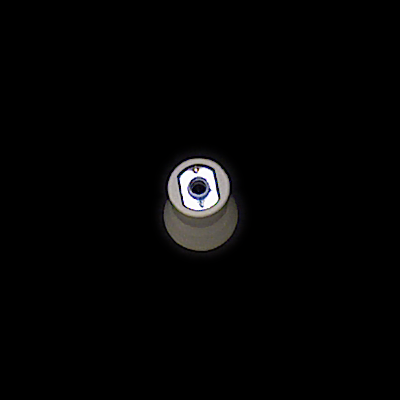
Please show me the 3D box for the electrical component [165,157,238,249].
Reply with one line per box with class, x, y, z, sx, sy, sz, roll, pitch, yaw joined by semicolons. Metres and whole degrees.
electrical component;0.000;0.000;0.625;0.044;0.044;0.065;0;-16;1
